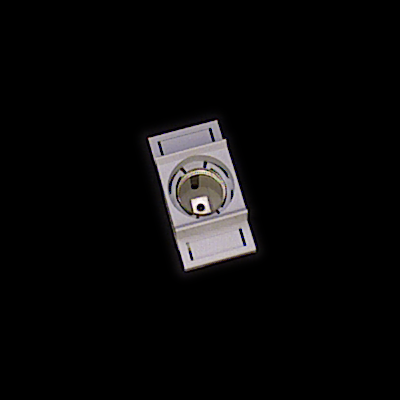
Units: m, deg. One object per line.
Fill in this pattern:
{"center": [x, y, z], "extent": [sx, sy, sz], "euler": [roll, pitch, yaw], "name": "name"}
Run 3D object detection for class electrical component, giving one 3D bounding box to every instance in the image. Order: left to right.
{"center": [0.000, 0.000, 0.623], "extent": [0.042, 0.081, 0.063], "euler": [-14, -17, -5], "name": "electrical component"}
